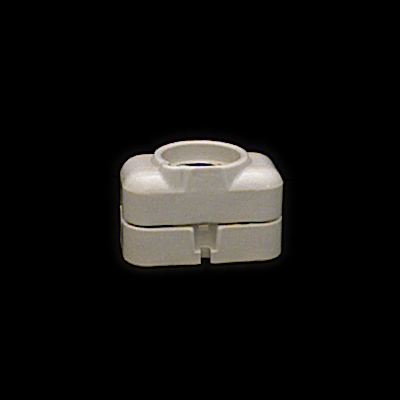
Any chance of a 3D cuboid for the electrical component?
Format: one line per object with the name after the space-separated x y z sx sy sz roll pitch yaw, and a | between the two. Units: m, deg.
0.000 0.000 0.644 0.095 0.060 0.053 -2 22 -8 | electrical component
